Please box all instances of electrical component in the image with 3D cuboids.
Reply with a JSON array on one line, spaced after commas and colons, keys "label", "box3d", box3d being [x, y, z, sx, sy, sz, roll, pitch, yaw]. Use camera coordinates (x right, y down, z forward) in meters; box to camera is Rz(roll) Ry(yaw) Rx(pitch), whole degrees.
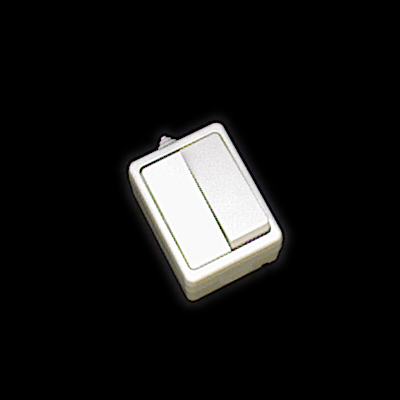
[{"label": "electrical component", "box3d": [0.000, 0.000, 0.627, 0.062, 0.096, 0.060, -26, -15, -8]}]
